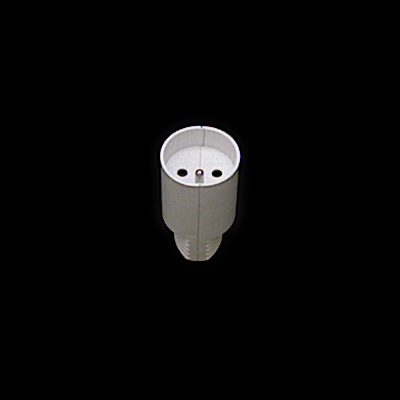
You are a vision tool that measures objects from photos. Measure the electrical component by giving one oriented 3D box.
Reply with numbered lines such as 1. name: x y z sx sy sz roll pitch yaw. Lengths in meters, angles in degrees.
1. electrical component: 0.000 0.000 0.618 0.043 0.043 0.081 0 -37 0
